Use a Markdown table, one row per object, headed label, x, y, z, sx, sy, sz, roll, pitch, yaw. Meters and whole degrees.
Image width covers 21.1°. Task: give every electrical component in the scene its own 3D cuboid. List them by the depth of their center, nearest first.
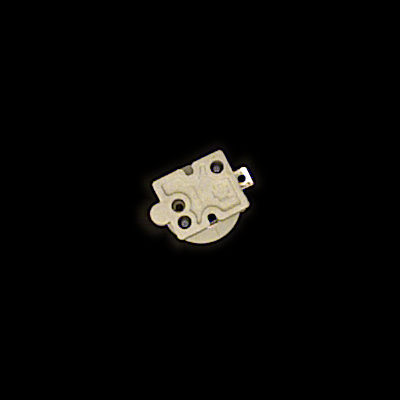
| label | x | y | z | sx | sy | sz | roll | pitch | yaw |
| --- | --- | --- | --- | --- | --- | --- | --- | --- | --- |
| electrical component | 0.000 | 0.000 | 0.638 | 0.066 | 0.048 | 0.055 | -26 | -6 | -3 |
